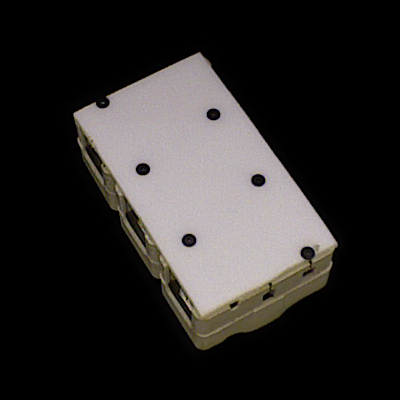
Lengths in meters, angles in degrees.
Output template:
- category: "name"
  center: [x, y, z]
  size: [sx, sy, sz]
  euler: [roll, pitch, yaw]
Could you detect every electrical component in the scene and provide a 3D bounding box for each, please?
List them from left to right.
- category: "electrical component"
  center: [0.000, 0.000, 0.632]
  size: [0.089, 0.149, 0.062]
  euler: [-27, -24, -13]
